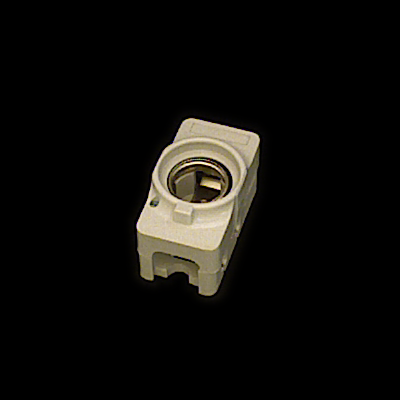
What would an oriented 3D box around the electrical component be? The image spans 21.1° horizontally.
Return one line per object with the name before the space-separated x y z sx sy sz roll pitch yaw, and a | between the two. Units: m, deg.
electrical component | 0.000 0.000 0.637 0.050 0.089 0.056 14 -36 10
